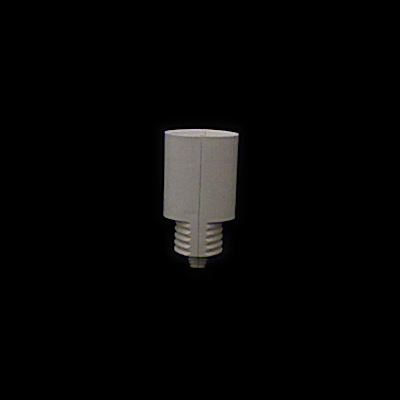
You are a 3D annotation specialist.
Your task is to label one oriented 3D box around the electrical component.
[{"bbox_3d":[0.000,0.000,0.640,0.043,0.082,0.042,0,12,0],"label":"electrical component"}]
